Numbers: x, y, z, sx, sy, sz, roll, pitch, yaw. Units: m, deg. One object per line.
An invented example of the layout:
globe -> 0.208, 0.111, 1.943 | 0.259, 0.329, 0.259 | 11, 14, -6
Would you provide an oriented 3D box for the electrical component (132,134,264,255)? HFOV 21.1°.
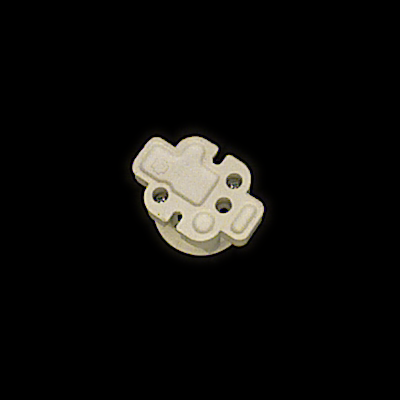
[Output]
electrical component -> 0.000, 0.000, 0.635 | 0.078, 0.058, 0.056 | 32, -13, 10
